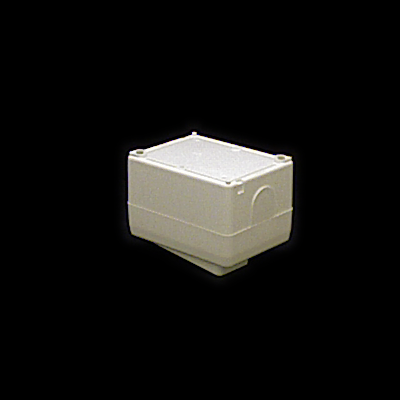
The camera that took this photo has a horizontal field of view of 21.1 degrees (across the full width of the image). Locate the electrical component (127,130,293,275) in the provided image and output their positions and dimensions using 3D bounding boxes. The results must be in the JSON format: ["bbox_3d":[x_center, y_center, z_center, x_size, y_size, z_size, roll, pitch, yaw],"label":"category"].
[{"bbox_3d":[0.000,0.000,0.642,0.095,0.062,0.062,18,27,37],"label":"electrical component"}]
